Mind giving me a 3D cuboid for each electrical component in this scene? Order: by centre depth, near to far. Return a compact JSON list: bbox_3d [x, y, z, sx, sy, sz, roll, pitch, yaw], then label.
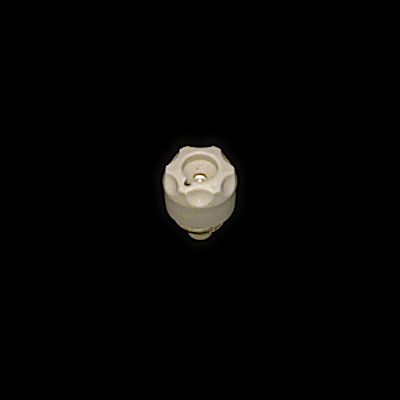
[{"bbox_3d":[0.000,0.000,0.636,0.043,0.043,0.062,0,-38,0],"label":"electrical component"}]
